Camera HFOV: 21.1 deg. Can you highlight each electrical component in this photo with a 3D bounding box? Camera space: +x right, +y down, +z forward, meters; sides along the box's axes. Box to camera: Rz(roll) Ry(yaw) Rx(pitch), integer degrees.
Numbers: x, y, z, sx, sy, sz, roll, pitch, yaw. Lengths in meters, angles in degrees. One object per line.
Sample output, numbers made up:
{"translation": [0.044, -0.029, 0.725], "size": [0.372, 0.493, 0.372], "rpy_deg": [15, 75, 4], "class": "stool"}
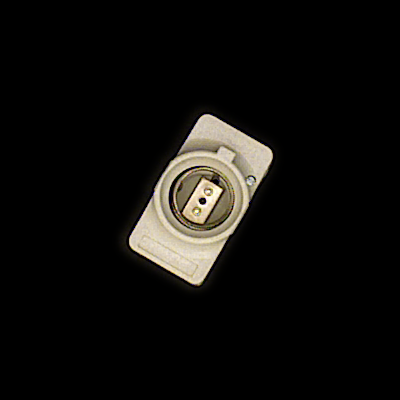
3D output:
{"translation": [0.000, 0.000, 0.637], "size": [0.050, 0.090, 0.055], "rpy_deg": [29, -5, 3], "class": "electrical component"}
